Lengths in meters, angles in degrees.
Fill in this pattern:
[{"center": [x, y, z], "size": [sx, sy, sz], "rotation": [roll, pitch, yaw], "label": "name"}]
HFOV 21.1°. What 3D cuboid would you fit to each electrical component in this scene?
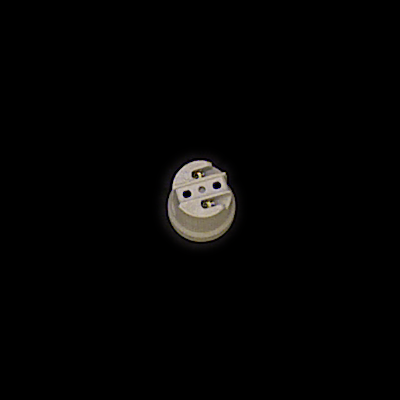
[{"center": [0.000, 0.000, 0.633], "size": [0.040, 0.040, 0.046], "rotation": [0, -16, 0], "label": "electrical component"}]
